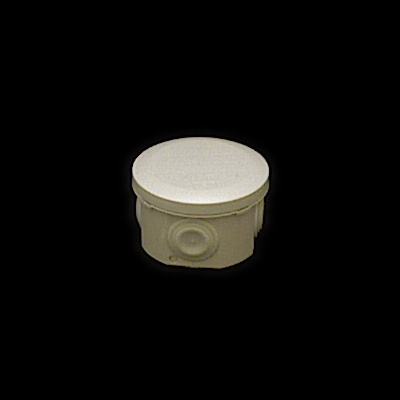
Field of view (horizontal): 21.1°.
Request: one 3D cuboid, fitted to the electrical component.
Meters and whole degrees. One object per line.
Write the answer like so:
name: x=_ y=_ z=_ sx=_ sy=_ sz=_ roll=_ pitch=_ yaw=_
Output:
electrical component: x=0.000 y=0.000 z=0.636 sx=0.080 sy=0.051 sz=0.079 roll=1 pitch=31 yaw=0
